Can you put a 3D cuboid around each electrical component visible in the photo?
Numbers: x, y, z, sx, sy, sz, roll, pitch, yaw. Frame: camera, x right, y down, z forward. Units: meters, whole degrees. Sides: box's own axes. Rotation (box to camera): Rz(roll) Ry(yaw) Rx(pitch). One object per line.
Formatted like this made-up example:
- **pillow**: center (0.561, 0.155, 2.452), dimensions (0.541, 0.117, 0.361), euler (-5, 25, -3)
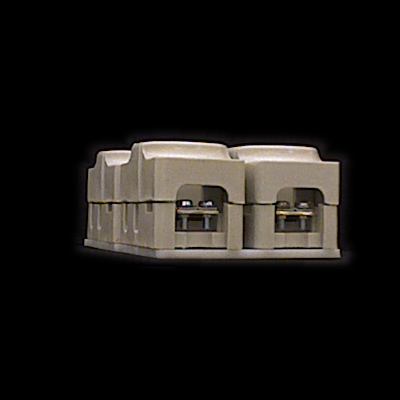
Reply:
- **electrical component**: center (0.000, 0.000, 0.649), dimensions (0.106, 0.060, 0.186), euler (1, -1, -18)
